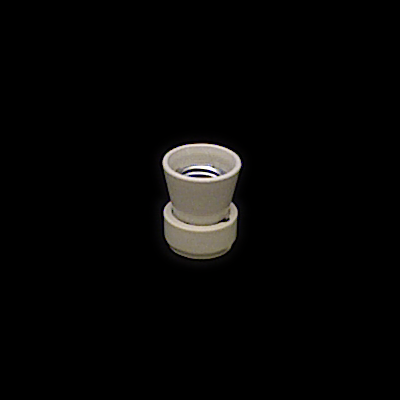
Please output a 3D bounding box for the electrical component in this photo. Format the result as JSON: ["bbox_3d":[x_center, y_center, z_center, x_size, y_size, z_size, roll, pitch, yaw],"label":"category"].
[{"bbox_3d":[0.000,0.000,0.637,0.045,0.056,0.044,1,31,-1],"label":"electrical component"}]
